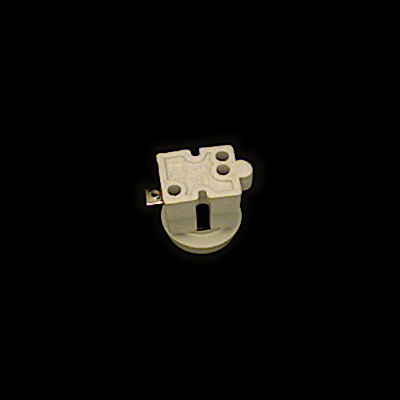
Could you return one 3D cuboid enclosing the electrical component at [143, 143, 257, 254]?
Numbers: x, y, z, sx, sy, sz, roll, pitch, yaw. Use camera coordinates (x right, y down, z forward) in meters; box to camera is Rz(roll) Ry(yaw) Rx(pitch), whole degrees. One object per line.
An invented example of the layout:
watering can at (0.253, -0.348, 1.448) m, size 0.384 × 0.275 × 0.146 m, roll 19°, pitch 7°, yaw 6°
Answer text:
electrical component at (0.000, 0.000, 0.639) m, size 0.066 × 0.048 × 0.056 m, roll -7°, pitch -36°, yaw -4°
